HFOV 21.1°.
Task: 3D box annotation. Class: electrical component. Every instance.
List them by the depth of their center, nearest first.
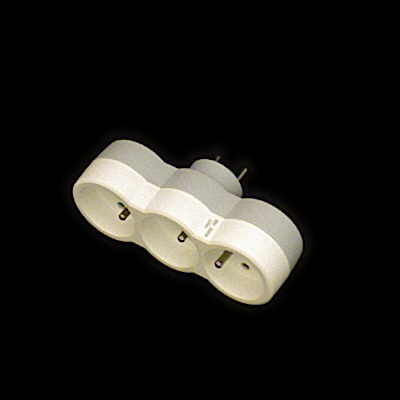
[{"bbox_3d":[0.000,0.000,0.640,0.137,0.074,0.052,26,-35,17],"label":"electrical component"}]
